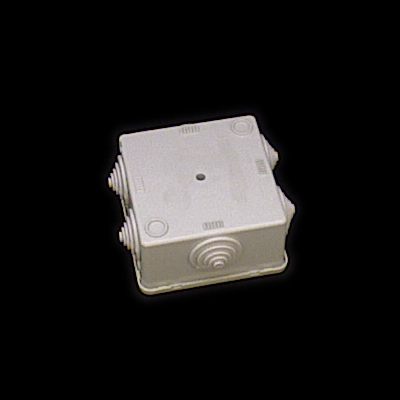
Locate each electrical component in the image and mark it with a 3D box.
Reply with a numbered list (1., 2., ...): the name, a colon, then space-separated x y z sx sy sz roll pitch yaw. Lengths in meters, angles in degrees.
1. electrical component: 0.000 0.000 0.633 0.100 0.099 0.049 -9 -37 -8
